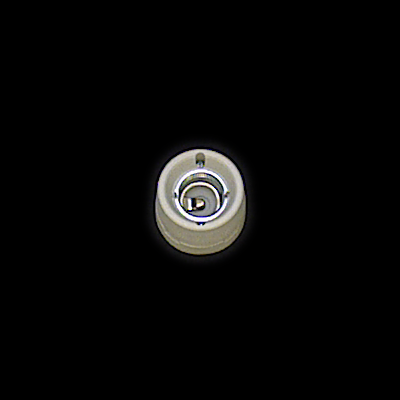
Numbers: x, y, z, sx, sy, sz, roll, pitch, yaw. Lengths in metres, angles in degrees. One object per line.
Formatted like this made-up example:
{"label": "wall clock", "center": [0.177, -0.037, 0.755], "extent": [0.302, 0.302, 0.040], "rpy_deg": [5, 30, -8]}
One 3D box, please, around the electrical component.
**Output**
{"label": "electrical component", "center": [0.000, 0.000, 0.633], "extent": [0.055, 0.056, 0.047], "rpy_deg": [0, -18, 0]}
